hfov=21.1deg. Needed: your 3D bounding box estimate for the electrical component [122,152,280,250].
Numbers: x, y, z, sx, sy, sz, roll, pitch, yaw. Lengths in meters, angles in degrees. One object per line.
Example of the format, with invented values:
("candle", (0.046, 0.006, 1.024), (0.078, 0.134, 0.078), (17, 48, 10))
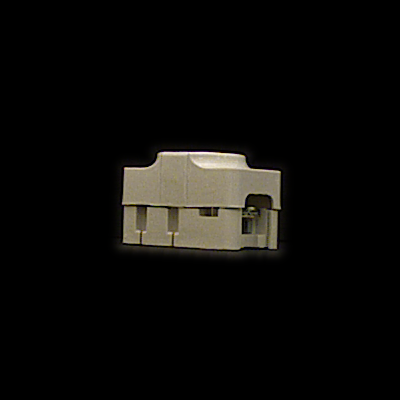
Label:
("electrical component", (0.000, 0.000, 0.657), (0.089, 0.056, 0.050), (2, 2, 39))
